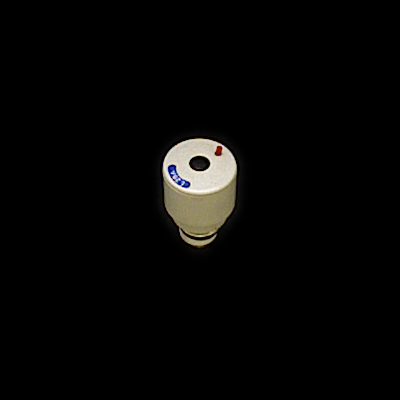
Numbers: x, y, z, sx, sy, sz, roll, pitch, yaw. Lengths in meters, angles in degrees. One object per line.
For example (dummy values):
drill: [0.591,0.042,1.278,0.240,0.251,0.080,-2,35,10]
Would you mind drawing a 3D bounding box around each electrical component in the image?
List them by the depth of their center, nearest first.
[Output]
electrical component: [0.000,0.000,0.621,0.040,0.040,0.079,0,-38,-1]
